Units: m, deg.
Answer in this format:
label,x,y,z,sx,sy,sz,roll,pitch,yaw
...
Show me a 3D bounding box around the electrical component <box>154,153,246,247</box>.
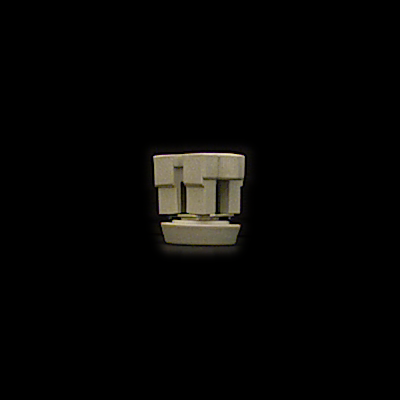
label,x,y,z,sx,sy,sz,roll,pitch,yaw
electrical component,0.000,0.000,0.657,0.066,0.055,0.049,2,3,43
